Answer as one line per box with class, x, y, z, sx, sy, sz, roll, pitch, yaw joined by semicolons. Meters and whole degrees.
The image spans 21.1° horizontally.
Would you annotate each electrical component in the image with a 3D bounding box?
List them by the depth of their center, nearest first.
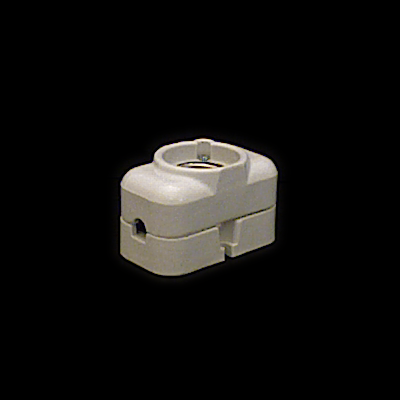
electrical component;0.000;0.000;0.647;0.095;0.060;0.053;-17;29;-40
